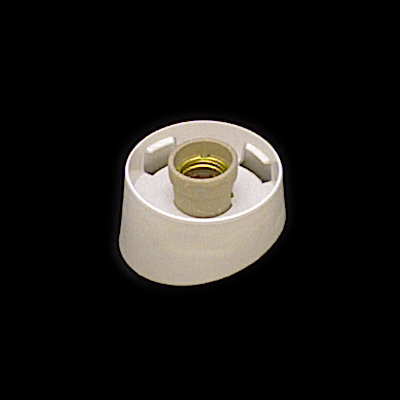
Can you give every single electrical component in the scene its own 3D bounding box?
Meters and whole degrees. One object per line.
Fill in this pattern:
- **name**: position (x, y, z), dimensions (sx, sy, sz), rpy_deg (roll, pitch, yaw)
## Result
- **electrical component**: position (0.000, 0.000, 0.630), dimensions (0.099, 0.065, 0.098), rpy_deg (0, 42, 0)
